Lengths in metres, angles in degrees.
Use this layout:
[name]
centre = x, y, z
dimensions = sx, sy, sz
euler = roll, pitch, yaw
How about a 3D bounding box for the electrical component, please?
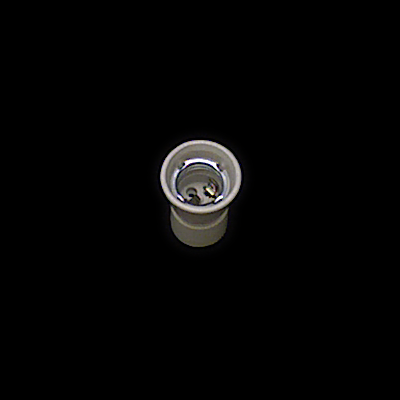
[electrical component]
centre = 0.000, 0.000, 0.624
dimensions = 0.044, 0.044, 0.065
euler = 0, -27, -1
